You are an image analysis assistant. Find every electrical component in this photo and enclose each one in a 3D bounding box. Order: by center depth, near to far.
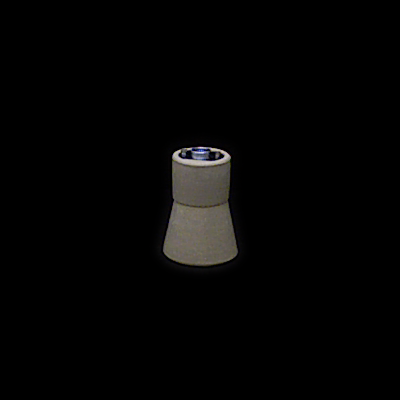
[{"bbox_3d":[0.000,0.000,0.639,0.044,0.066,0.044,1,20,0],"label":"electrical component"}]
